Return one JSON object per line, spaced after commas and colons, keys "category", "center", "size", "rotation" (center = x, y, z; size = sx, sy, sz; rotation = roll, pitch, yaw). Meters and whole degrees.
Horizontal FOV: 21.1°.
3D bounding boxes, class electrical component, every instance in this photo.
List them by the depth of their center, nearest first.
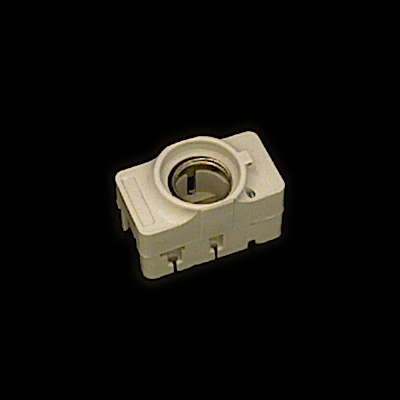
{"category": "electrical component", "center": [0.000, 0.000, 0.637], "size": [0.090, 0.050, 0.056], "rotation": [-19, -35, -14]}
